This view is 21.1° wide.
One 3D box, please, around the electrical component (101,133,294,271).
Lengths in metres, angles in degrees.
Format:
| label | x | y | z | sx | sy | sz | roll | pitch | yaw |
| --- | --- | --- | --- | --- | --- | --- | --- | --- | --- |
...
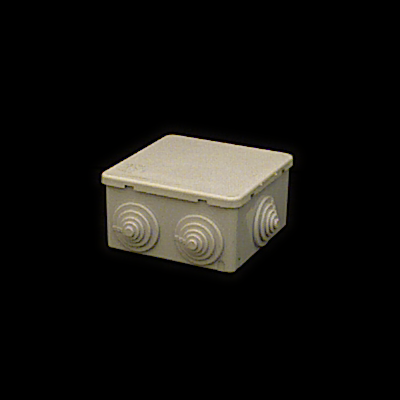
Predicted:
| label | x | y | z | sx | sy | sz | roll | pitch | yaw |
| --- | --- | --- | --- | --- | --- | --- | --- | --- | --- |
| electrical component | 0.000 | 0.000 | 0.647 | 0.099 | 0.049 | 0.099 | 11 | 24 | 23 |
